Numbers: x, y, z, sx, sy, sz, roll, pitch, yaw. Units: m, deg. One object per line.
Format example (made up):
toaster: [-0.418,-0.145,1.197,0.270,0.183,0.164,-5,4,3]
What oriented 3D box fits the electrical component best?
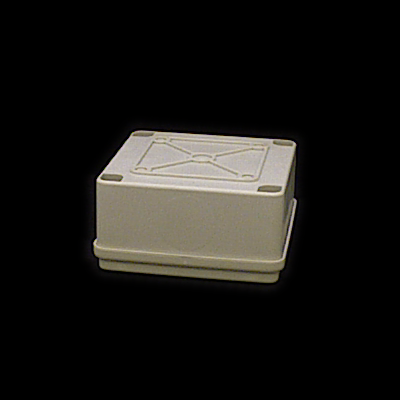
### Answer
electrical component: [0.000,0.000,0.642,0.108,0.057,0.107,5,21,8]
